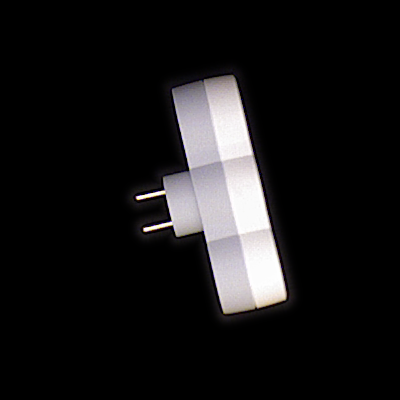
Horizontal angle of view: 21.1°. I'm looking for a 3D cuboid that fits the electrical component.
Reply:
[{"bbox_3d":[0.000,0.000,0.631,0.074,0.138,0.052,-13,-6,0],"label":"electrical component"}]
